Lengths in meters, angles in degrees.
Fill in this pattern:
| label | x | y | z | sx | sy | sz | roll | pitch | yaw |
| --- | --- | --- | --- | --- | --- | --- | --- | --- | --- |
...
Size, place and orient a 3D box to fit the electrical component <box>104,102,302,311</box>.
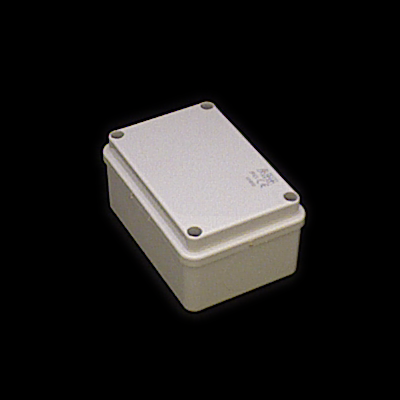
| label | x | y | z | sx | sy | sz | roll | pitch | yaw |
| --- | --- | --- | --- | --- | --- | --- | --- | --- | --- |
| electrical component | 0.000 | 0.000 | 0.632 | 0.078 | 0.057 | 0.112 | -20 | 46 | -21 |
